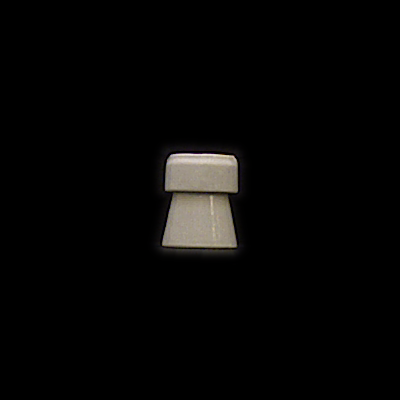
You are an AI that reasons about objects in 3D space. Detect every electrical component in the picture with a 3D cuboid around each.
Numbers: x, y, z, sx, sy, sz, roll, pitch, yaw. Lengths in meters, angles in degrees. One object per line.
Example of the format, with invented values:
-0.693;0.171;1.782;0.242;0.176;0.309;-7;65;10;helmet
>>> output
0.000;0.000;0.651;0.045;0.055;0.045;2;1;0;electrical component
